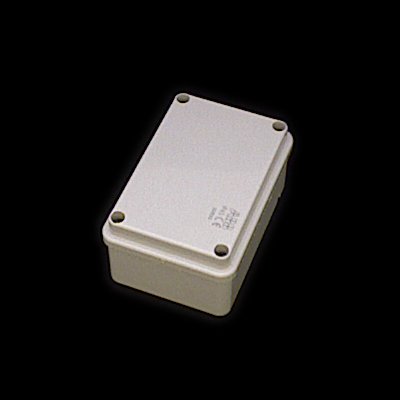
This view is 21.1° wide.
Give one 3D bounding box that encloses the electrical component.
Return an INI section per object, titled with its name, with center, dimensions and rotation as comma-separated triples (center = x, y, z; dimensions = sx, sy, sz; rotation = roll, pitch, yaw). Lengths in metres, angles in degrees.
[electrical component]
center = 0.000, 0.000, 0.628
dimensions = 0.078, 0.113, 0.057
rotation = 17, -36, 12
